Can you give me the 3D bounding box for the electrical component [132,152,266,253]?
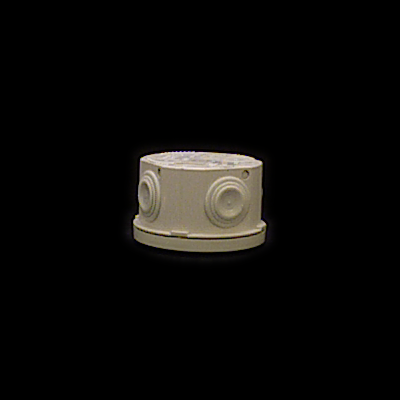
[{"bbox_3d":[0.000,0.000,0.645,0.080,0.051,0.079,2,11,0],"label":"electrical component"}]
